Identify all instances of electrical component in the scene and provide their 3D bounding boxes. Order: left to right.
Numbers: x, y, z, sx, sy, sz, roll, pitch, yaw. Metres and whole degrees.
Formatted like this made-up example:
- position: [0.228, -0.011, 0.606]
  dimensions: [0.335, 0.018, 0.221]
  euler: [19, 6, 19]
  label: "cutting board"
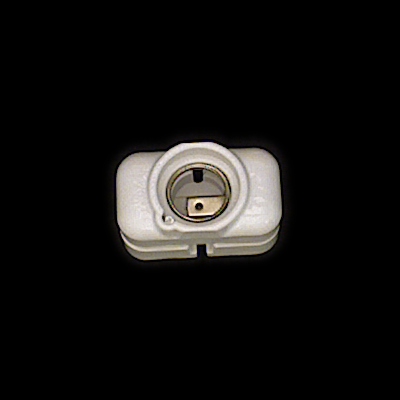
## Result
- position: [0.000, 0.000, 0.634]
  dimensions: [0.095, 0.054, 0.059]
  euler: [-3, -16, -1]
  label: "electrical component"
